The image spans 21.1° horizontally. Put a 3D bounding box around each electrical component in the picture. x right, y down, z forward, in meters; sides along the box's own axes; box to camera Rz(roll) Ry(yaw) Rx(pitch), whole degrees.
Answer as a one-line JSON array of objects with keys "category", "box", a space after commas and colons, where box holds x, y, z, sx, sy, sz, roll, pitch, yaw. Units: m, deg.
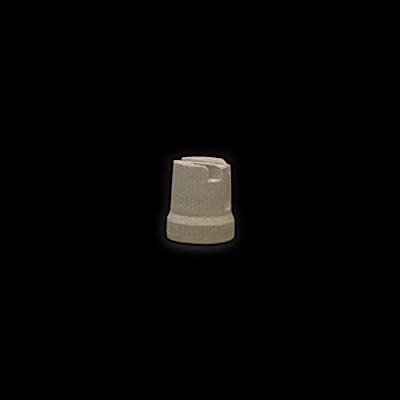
[{"category": "electrical component", "box": [0.000, 0.000, 0.644, 0.040, 0.046, 0.040, 1, 11, 0]}]
